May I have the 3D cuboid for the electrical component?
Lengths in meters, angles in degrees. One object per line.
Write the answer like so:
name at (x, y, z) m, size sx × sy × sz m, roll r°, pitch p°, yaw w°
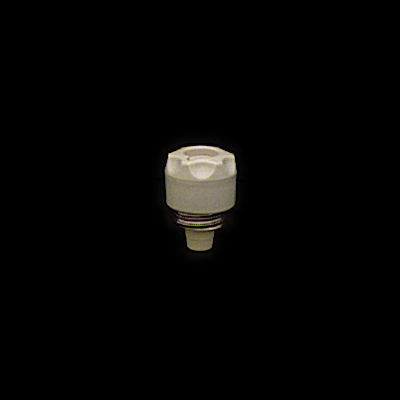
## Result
electrical component at (0.000, 0.000, 0.647) m, size 0.043 × 0.063 × 0.043 m, roll 1°, pitch 21°, yaw 0°
